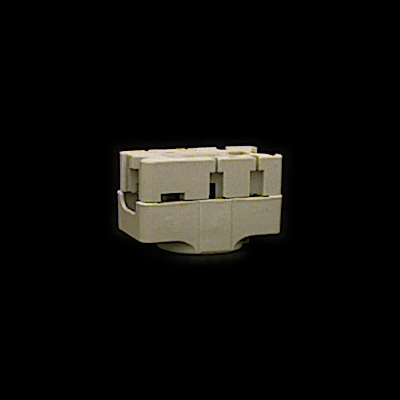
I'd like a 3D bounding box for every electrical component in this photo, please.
[{"bbox_3d":[0.000,0.000,0.652,0.090,0.056,0.049,-3,12,-23],"label":"electrical component"}]
